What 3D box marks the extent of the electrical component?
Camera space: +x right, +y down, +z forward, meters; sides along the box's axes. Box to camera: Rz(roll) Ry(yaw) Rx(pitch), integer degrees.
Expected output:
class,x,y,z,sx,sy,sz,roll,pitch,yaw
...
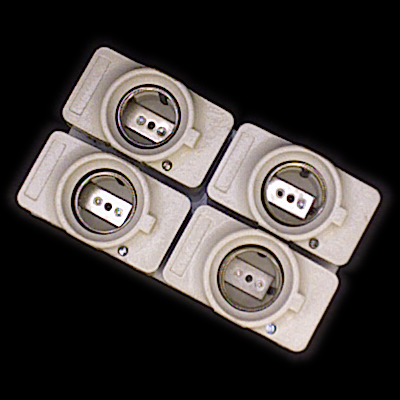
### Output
class,x,y,z,sx,sy,sz,roll,pitch,yaw
electrical component,0.000,0.000,0.626,0.186,0.106,0.060,28,-6,3
